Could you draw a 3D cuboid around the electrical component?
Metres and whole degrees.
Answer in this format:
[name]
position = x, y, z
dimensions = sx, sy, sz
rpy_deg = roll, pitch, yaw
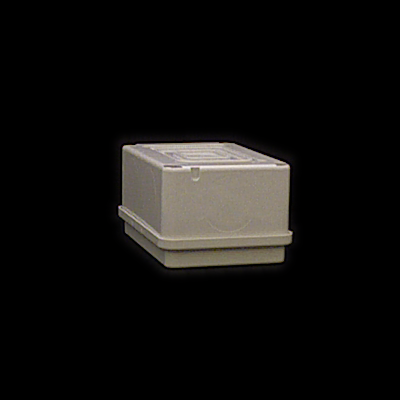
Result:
[electrical component]
position = 0.000, 0.000, 0.644
dimensions = 0.078, 0.057, 0.112
rpy_deg = -2, 10, -17
